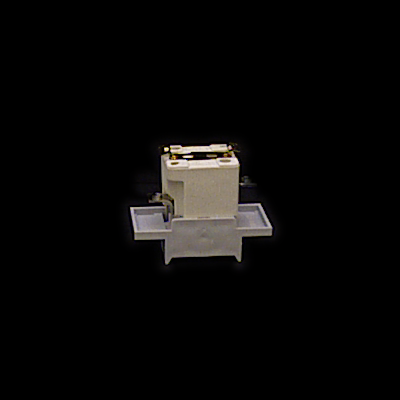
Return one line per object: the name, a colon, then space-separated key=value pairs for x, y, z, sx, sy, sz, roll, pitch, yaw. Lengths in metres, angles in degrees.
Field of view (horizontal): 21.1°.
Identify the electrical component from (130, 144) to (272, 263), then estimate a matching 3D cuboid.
electrical component: x=0.000 y=0.000 z=0.638 sx=0.081 sy=0.064 sz=0.041 roll=-2 pitch=22 yaw=-8
